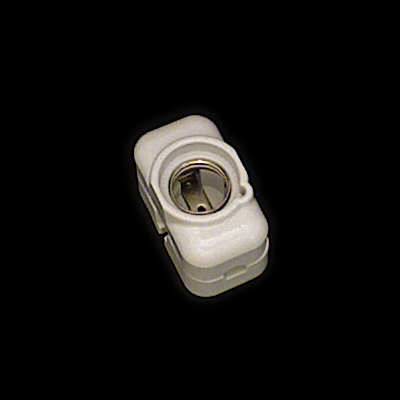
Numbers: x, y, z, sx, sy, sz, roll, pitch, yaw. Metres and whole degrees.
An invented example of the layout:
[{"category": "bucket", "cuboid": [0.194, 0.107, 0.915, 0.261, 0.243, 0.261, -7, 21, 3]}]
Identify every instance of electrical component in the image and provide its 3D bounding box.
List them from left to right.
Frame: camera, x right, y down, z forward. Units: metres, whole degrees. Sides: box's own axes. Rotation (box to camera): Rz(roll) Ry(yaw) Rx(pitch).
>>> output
[{"category": "electrical component", "cuboid": [0.000, 0.000, 0.634, 0.054, 0.095, 0.059, -23, -24, -10]}]
